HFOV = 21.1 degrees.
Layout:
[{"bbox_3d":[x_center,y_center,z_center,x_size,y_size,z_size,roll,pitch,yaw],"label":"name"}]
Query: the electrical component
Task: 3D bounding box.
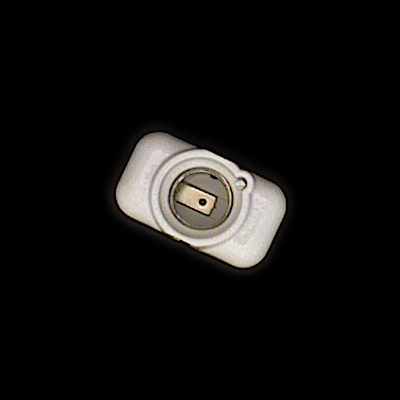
[{"bbox_3d":[0.000,0.000,0.635,0.095,0.054,0.059,24,-4,3],"label":"electrical component"}]
